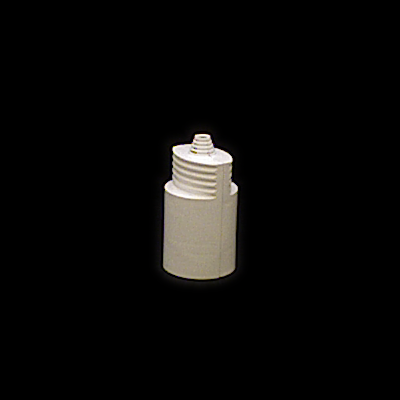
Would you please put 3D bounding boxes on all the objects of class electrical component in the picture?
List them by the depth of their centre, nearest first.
[{"bbox_3d":[0.000,0.000,0.634,0.043,0.082,0.042,1,21,0],"label":"electrical component"}]
